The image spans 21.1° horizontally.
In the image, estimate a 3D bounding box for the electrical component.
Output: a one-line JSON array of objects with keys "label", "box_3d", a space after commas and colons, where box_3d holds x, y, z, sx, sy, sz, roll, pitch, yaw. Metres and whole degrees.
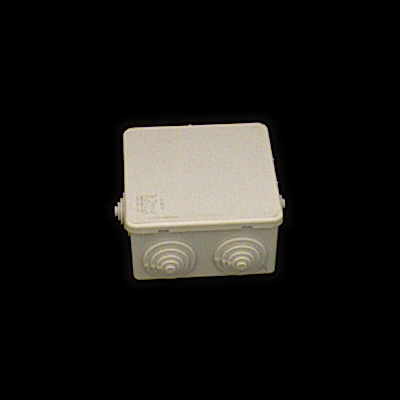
[{"label": "electrical component", "box_3d": [0.000, 0.000, 0.641, 0.100, 0.049, 0.099, -2, 43, -4]}]
